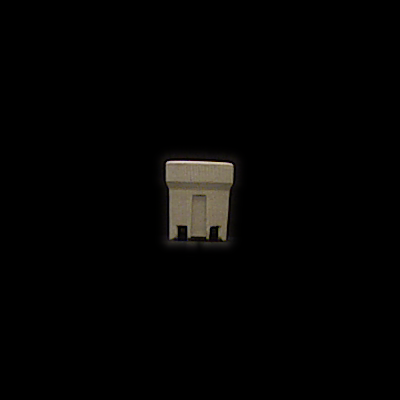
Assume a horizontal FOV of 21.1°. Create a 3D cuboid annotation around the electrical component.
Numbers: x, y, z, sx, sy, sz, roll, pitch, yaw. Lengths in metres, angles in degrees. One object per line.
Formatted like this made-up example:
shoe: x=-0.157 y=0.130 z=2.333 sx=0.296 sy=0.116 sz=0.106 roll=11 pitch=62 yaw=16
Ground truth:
electrical component: x=0.000 y=0.000 z=0.646 sx=0.040 sy=0.046 sz=0.040 roll=1 pitch=1 yaw=0
